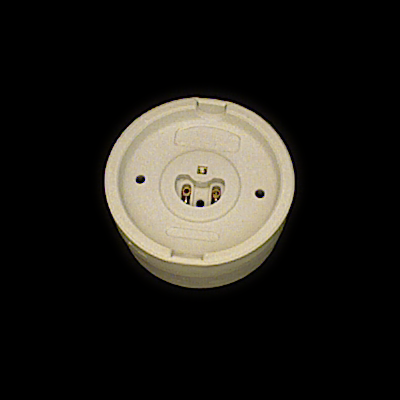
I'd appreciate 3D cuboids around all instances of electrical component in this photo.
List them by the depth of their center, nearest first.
[{"bbox_3d":[0.000,0.000,0.635,0.108,0.108,0.060,0,-26,0],"label":"electrical component"}]
